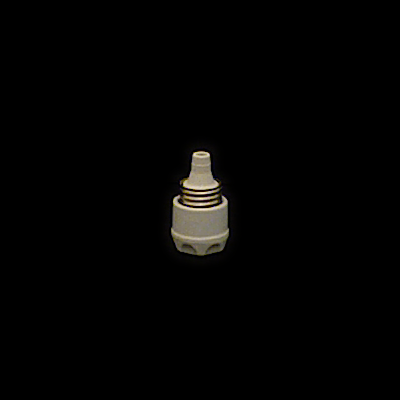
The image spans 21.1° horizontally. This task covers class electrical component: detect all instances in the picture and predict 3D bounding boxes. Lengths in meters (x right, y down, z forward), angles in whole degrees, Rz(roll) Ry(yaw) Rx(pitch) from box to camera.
[{"bbox_3d":[0.000,0.000,0.650,0.035,0.062,0.034,2,21,0],"label":"electrical component"}]
